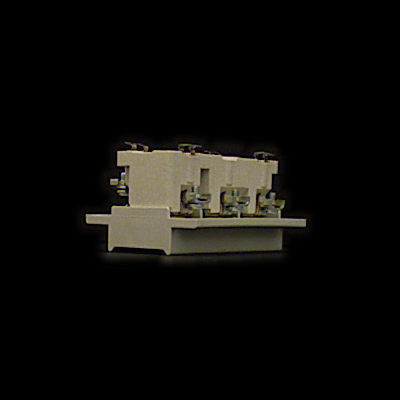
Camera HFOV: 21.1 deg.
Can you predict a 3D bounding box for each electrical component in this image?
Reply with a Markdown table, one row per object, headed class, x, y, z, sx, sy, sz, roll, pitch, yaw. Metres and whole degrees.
| class | x | y | z | sx | sy | sz | roll | pitch | yaw |
| --- | --- | --- | --- | --- | --- | --- | --- | --- | --- |
| electrical component | 0.000 | 0.000 | 0.656 | 0.078 | 0.063 | 0.122 | 3 | 1 | 35 |
